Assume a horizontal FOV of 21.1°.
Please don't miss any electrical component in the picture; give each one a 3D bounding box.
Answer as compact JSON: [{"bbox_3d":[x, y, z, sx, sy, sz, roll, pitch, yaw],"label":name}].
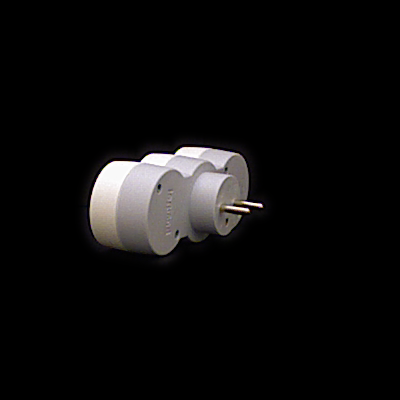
[{"bbox_3d":[0.000,0.000,0.648,0.073,0.052,0.138,9,12,25],"label":"electrical component"}]
